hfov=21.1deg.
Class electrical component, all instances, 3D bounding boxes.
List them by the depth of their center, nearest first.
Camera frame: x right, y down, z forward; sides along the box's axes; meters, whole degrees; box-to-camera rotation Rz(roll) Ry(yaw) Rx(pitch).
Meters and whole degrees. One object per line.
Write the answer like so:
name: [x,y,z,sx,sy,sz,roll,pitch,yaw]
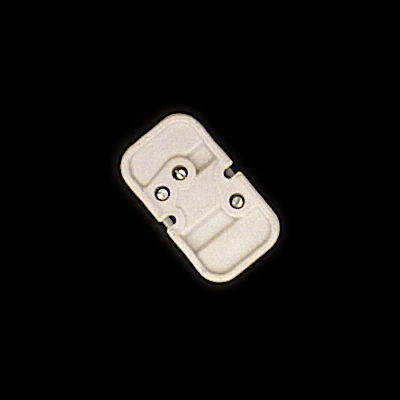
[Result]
electrical component: [0.000,0.000,0.636,0.054,0.095,0.059,-39,-4,-3]
